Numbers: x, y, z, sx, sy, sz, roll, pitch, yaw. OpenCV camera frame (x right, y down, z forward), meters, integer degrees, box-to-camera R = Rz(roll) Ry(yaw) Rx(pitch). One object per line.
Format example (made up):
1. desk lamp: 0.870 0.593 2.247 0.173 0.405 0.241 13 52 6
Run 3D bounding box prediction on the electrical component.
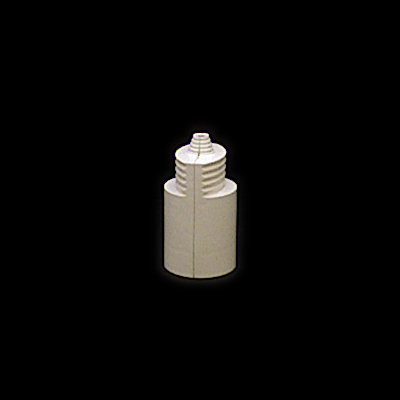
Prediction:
1. electrical component: 0.000 0.000 0.636 0.043 0.082 0.042 1 21 0
